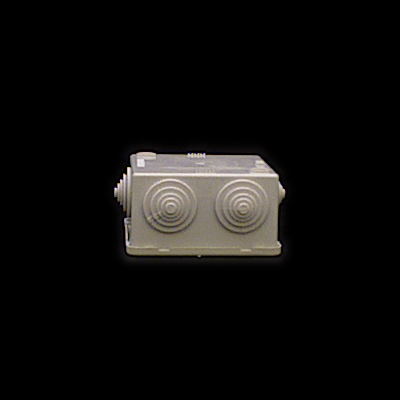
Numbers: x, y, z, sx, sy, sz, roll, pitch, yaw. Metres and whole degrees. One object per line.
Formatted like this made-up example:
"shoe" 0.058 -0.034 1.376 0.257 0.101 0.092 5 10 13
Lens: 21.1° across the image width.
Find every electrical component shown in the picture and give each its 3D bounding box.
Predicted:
"electrical component" 0.000 0.000 0.646 0.100 0.049 0.099 0 11 -5
